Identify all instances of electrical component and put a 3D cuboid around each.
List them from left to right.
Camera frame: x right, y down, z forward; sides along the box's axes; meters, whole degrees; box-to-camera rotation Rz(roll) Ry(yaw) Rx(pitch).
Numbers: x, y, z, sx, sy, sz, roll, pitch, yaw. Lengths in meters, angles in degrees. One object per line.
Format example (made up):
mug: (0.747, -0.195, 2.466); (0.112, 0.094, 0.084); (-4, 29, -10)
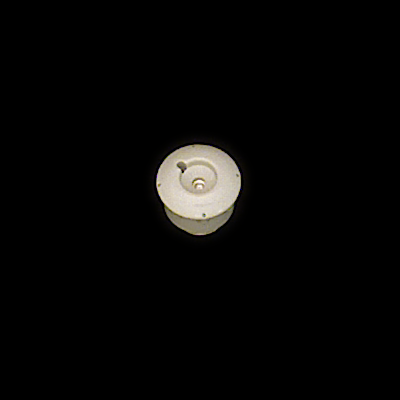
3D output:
electrical component: (0.000, 0.000, 0.633); (0.048, 0.048, 0.062); (0, -27, 0)
